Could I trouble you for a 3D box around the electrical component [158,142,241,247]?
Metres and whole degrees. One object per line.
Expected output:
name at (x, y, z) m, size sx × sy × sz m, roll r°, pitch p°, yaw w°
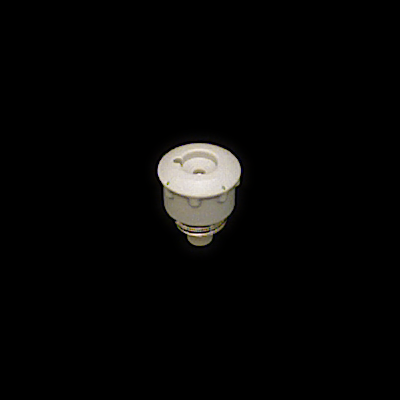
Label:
electrical component at (0.000, 0.000, 0.635) m, size 0.048 × 0.062 × 0.048 m, roll 1°, pitch 42°, yaw 0°
